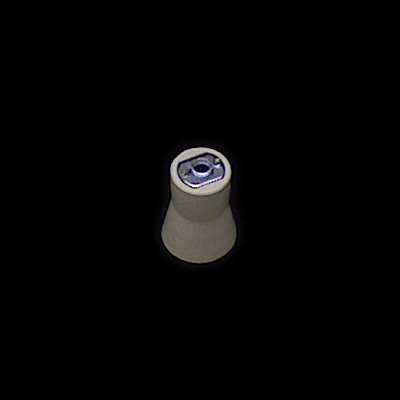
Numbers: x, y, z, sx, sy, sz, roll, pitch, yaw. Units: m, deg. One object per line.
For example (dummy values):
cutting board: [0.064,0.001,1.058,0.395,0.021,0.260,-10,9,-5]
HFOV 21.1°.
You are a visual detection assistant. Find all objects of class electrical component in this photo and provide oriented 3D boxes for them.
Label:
electrical component: [0.000,0.000,0.625,0.044,0.044,0.065,0,-37,-1]
